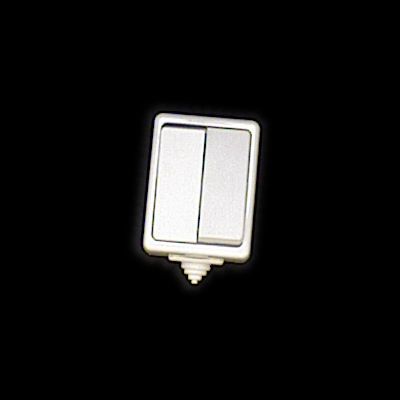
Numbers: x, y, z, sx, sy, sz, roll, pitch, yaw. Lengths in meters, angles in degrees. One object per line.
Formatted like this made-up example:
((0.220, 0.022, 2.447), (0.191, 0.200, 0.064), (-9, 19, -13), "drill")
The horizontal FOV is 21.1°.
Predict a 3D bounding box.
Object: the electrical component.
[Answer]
((0.000, 0.000, 0.626), (0.062, 0.096, 0.061), (5, -7, 1), "electrical component")
